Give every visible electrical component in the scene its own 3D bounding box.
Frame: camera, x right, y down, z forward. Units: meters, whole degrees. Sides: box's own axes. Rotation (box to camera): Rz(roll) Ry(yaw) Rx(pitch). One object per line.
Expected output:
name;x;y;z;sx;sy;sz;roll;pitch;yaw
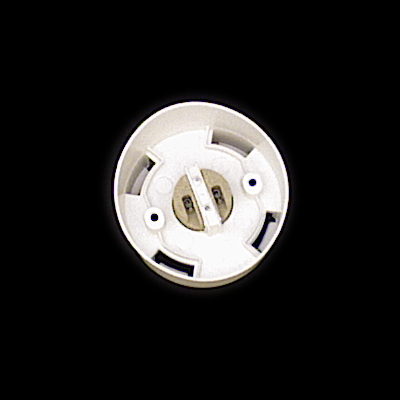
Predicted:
electrical component;0.000;0.000;0.623;0.099;0.099;0.064;0;-17;1
